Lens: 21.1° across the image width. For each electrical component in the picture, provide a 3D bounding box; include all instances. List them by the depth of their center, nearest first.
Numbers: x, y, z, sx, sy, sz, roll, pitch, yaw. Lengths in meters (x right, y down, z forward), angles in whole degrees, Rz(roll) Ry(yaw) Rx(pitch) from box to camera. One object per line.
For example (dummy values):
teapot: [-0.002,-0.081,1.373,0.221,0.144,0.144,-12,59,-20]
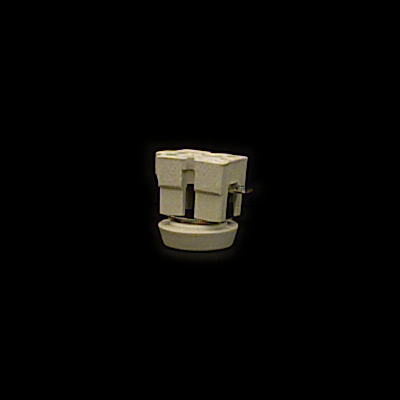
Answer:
electrical component: [0.000,0.000,0.651,0.066,0.056,0.048,8,12,25]
